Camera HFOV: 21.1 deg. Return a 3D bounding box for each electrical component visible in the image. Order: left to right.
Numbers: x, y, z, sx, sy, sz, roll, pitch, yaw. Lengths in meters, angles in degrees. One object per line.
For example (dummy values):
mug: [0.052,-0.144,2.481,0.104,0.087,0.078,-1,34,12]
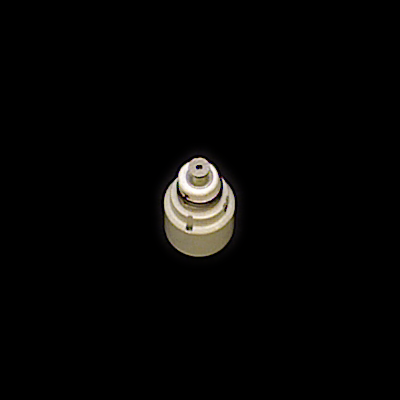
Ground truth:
electrical component: [0.000,0.000,0.618,0.040,0.040,0.078,0,-29,0]
